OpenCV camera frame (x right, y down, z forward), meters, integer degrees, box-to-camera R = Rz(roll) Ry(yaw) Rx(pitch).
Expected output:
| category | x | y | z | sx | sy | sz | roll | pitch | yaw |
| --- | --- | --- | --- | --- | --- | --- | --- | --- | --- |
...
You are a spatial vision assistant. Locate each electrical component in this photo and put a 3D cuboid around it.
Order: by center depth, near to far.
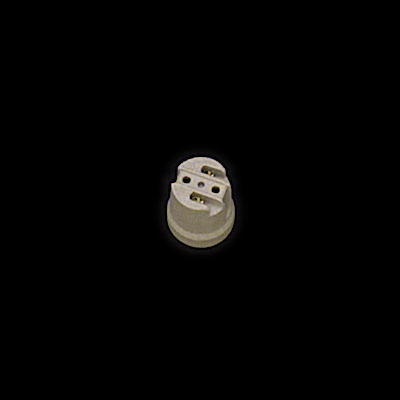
| category | x | y | z | sx | sy | sz | roll | pitch | yaw |
| --- | --- | --- | --- | --- | --- | --- | --- | --- | --- |
| electrical component | 0.000 | 0.000 | 0.632 | 0.040 | 0.040 | 0.046 | 0 | -27 | 0 |
